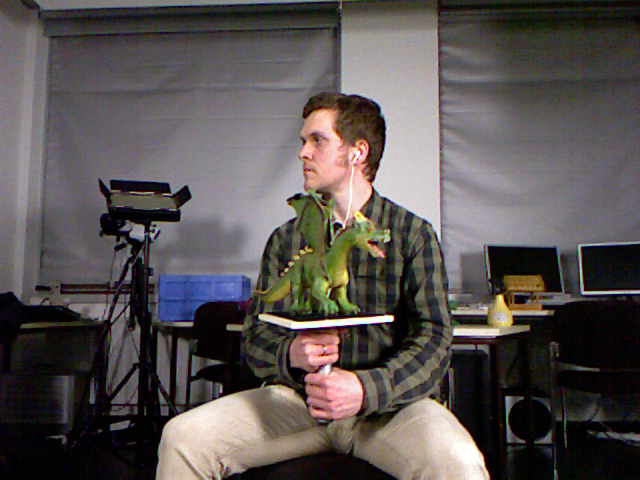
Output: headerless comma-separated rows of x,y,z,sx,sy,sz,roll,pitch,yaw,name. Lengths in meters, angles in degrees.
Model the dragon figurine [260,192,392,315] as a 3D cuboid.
-0.020,0.025,1.024,0.122,0.243,0.409,-2,0,-40,dragon figurine
